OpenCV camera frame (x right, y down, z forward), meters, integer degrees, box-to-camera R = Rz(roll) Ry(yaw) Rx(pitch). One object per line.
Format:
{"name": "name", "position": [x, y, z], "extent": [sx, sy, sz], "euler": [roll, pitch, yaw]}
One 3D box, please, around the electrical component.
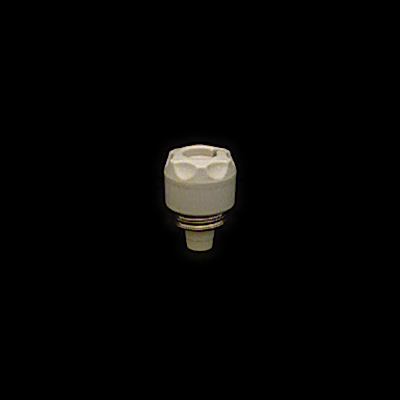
{"name": "electrical component", "position": [0.000, 0.000, 0.645], "extent": [0.043, 0.063, 0.043], "euler": [1, 23, 0]}
